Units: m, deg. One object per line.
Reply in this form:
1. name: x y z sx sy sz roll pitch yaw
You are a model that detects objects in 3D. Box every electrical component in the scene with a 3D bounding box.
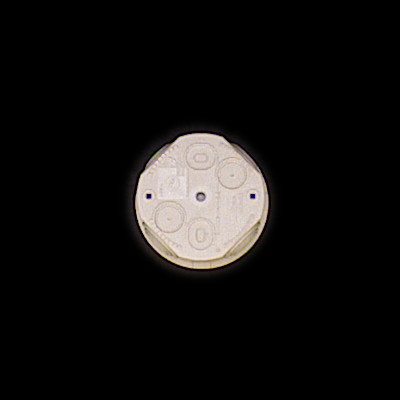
1. electrical component: 0.000 0.000 0.633 0.080 0.080 0.050 0 -7 1
